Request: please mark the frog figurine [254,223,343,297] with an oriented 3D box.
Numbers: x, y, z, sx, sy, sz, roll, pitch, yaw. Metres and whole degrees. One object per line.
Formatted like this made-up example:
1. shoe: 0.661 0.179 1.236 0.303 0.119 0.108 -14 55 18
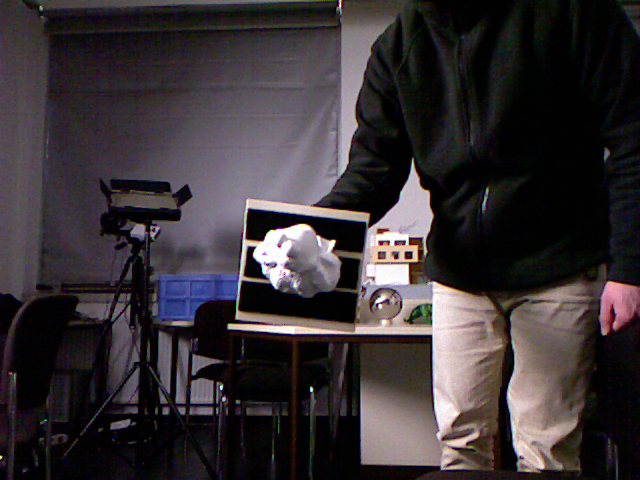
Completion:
1. frog figurine: -0.032 0.033 0.776 0.138 0.122 0.161 30 8 0
